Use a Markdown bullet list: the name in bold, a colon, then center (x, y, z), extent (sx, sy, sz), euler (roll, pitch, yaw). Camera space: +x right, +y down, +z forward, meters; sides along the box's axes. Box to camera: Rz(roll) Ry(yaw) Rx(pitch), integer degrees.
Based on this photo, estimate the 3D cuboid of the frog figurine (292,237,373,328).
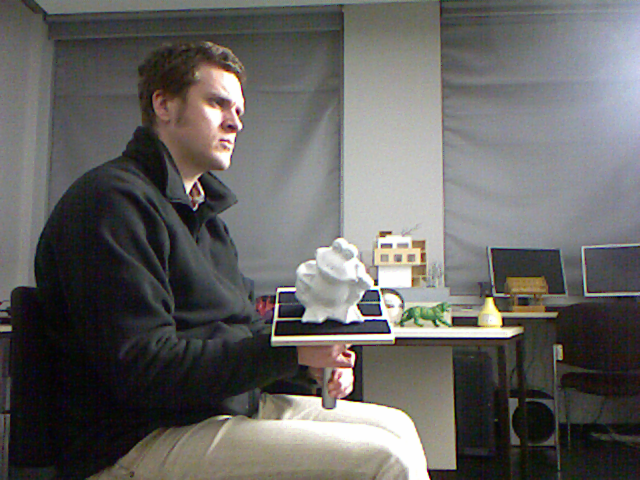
- **frog figurine**: center (0.020, 0.061, 0.885), extent (0.138, 0.157, 0.125), euler (8, 24, 17)
